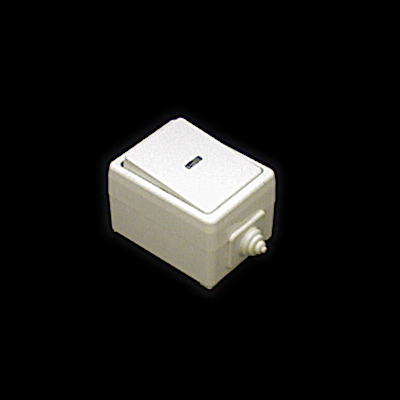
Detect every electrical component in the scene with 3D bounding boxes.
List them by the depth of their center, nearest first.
[{"bbox_3d":[0.000,0.000,0.629,0.096,0.061,0.061,29,49,28],"label":"electrical component"}]
